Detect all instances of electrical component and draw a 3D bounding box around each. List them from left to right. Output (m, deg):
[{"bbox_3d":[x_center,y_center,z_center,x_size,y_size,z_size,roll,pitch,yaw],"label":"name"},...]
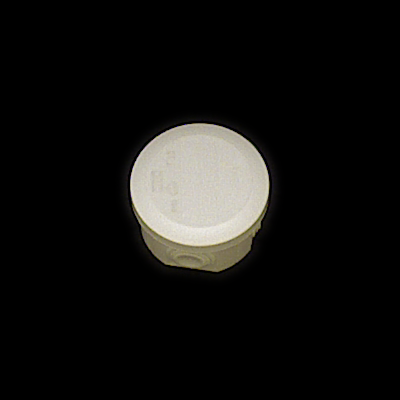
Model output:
[{"bbox_3d":[0.000,0.000,0.631,0.080,0.080,0.050,0,-28,0],"label":"electrical component"}]
